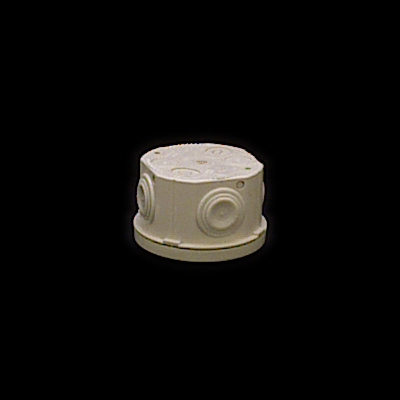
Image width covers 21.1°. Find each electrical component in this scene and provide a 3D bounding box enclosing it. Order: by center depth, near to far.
[{"bbox_3d":[0.000,0.000,0.641,0.080,0.051,0.079,2,21,0],"label":"electrical component"}]
